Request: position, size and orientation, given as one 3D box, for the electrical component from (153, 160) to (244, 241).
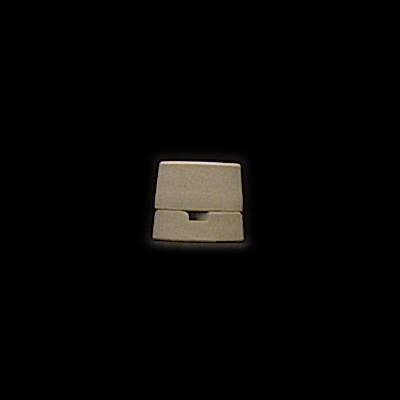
[{"bbox_3d":[0.000,0.000,0.649,0.055,0.047,0.055,2,2,0],"label":"electrical component"}]
